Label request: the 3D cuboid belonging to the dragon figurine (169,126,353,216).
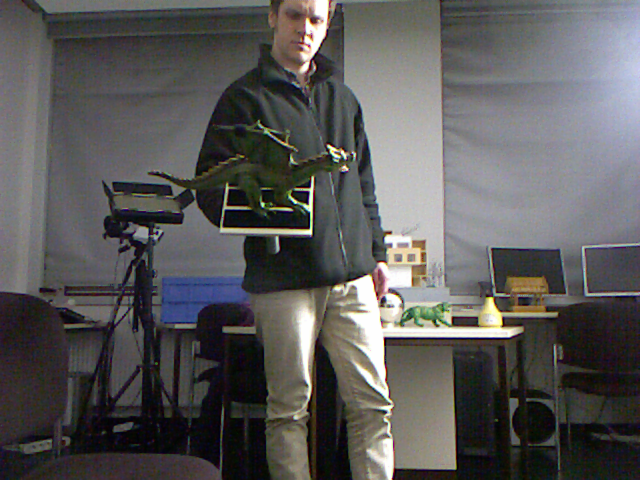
[{"bbox_3d":[-0.137,-0.164,1.090,0.410,0.125,0.237,4,-32,-1],"label":"dragon figurine"}]
